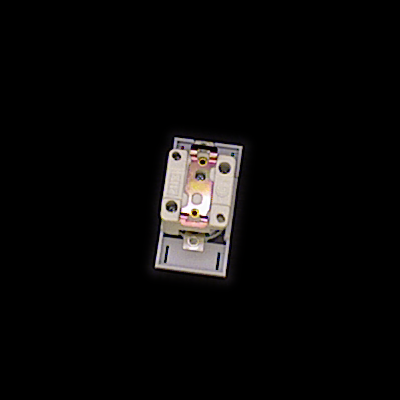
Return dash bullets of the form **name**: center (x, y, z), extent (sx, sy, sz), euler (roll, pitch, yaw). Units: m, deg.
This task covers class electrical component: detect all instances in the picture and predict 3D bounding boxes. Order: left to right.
- **electrical component**: center (0.000, 0.000, 0.625), extent (0.042, 0.081, 0.063), euler (7, -17, 2)
